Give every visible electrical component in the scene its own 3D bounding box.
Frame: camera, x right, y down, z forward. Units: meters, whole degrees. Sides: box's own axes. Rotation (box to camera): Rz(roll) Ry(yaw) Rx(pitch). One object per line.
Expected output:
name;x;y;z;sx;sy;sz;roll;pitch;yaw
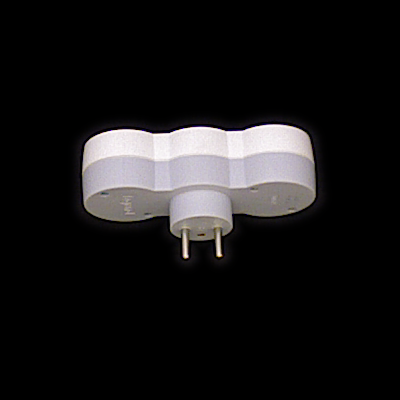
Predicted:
electrical component;0.000;0.000;0.631;0.138;0.074;0.052;-2;-25;-2
